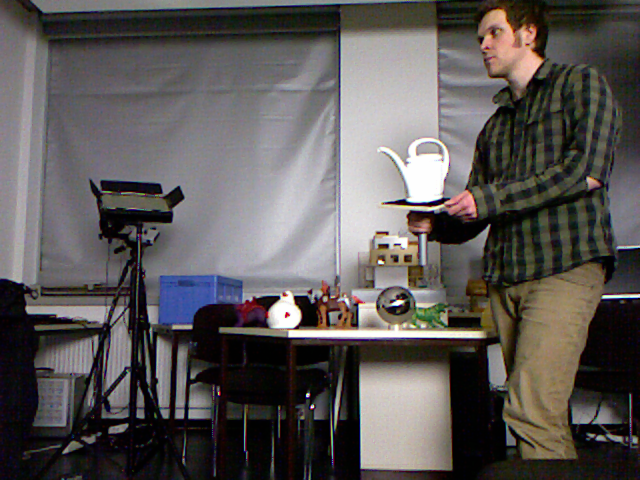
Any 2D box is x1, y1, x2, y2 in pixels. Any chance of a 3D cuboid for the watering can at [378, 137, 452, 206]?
[{"bbox_3d":[0.299,-0.205,1.608,0.350,0.222,0.104,-12,17,-40],"label":"watering can"}]
